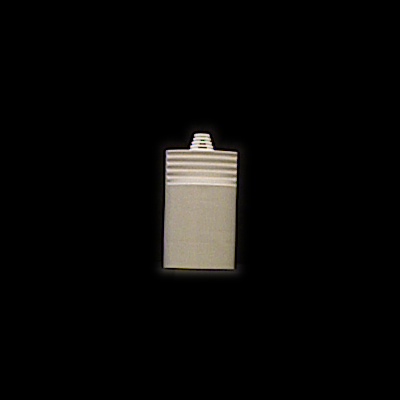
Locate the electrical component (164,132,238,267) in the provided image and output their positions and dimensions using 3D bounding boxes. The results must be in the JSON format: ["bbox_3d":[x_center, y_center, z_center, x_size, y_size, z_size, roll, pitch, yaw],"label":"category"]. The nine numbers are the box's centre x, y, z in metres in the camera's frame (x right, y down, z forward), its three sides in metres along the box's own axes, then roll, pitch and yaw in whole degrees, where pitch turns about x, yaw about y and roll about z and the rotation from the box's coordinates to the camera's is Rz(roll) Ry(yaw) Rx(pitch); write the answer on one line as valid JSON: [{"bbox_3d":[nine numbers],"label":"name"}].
[{"bbox_3d":[0.001,0.000,0.649,0.043,0.081,0.043,1,1,0],"label":"electrical component"}]
